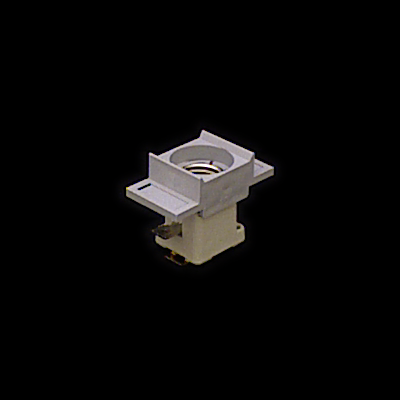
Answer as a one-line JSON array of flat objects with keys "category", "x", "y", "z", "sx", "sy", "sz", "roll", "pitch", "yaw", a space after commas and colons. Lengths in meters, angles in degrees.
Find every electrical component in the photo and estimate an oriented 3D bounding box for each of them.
[{"category": "electrical component", "x": 0.000, "y": 0.000, "z": 0.631, "sx": 0.080, "sy": 0.064, "sz": 0.042, "roll": -26, "pitch": 41, "yaw": -38}]
